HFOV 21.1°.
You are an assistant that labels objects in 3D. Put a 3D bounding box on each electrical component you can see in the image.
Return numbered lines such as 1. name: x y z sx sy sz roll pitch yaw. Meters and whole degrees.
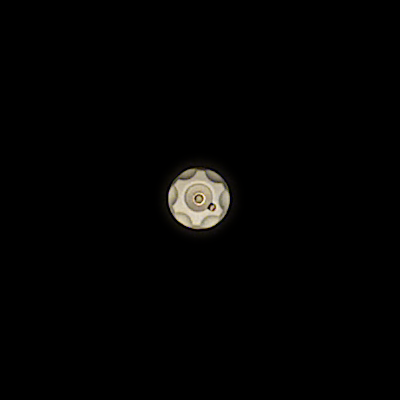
1. electrical component: 0.000 0.000 0.634 0.035 0.035 0.061 0 -5 1
